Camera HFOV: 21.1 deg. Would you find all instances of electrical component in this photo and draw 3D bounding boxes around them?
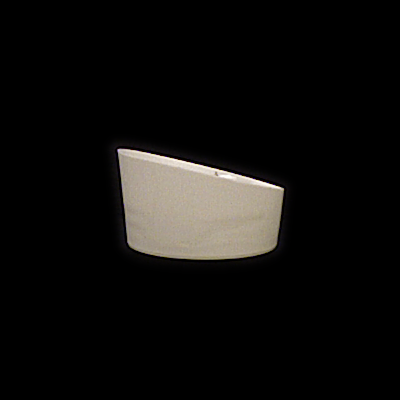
[{"bbox_3d":[0.000,0.000,0.642,0.099,0.064,0.098,1,11,0],"label":"electrical component"}]
